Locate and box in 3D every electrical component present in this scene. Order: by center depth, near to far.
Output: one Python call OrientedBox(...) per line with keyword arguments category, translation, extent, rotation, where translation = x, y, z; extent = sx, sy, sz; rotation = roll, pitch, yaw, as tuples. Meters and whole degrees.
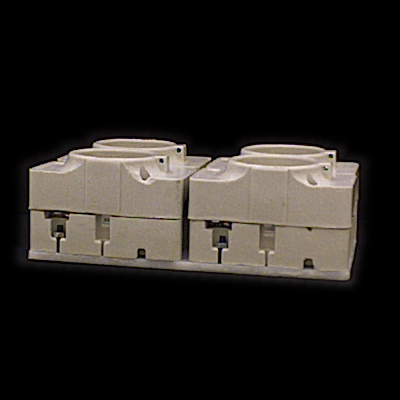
OrientedBox(category="electrical component", translation=(0.000, 0.000, 0.645), extent=(0.186, 0.061, 0.105), rotation=(3, 10, 10))
